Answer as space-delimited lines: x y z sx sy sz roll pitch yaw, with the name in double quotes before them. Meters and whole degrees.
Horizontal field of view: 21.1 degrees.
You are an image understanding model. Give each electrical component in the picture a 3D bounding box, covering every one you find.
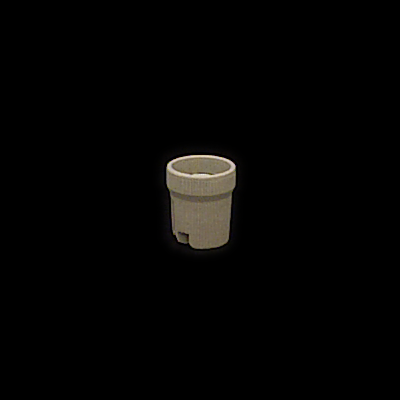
"electrical component" 0.000 0.000 0.639 0.040 0.047 0.039 1 21 0
